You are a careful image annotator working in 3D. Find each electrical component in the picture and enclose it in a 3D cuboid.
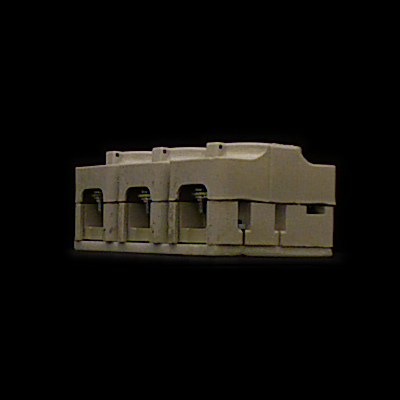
[{"bbox_3d":[0.000,0.000,0.655,0.090,0.062,0.150,1,-1,-38],"label":"electrical component"}]
